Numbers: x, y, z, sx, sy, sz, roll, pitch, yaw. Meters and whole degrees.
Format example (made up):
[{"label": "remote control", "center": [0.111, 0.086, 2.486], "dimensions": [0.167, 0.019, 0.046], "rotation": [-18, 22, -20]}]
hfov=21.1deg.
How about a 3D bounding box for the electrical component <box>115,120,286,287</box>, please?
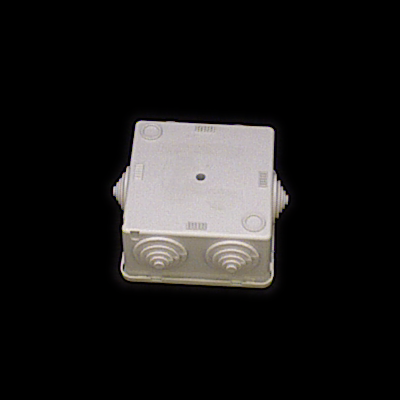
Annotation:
[{"label": "electrical component", "center": [0.000, 0.000, 0.632], "dimensions": [0.100, 0.099, 0.049], "rotation": [3, -37, 2]}]
